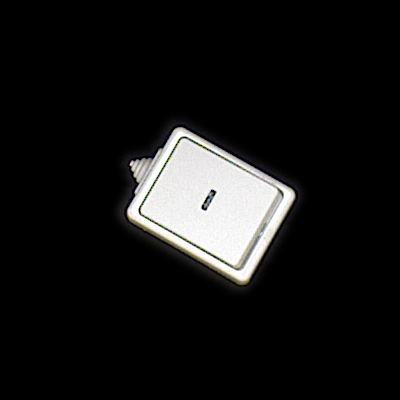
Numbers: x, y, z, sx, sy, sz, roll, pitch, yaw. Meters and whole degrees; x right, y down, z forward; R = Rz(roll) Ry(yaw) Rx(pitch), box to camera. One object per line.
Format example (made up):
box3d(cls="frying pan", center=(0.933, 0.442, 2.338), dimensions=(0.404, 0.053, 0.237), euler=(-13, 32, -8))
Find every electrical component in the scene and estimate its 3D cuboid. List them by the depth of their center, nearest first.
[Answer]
box3d(cls="electrical component", center=(0.000, 0.000, 0.627), dimensions=(0.096, 0.062, 0.061), euler=(30, -6, 4))
